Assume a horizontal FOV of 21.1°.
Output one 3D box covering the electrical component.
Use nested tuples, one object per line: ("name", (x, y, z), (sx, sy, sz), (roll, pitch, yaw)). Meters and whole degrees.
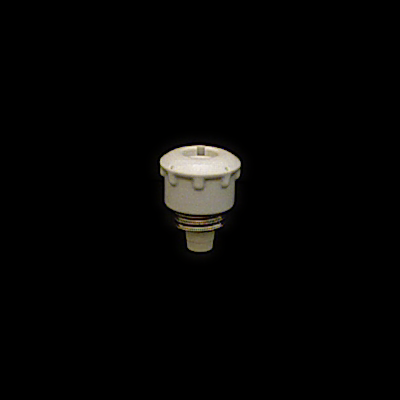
("electrical component", (0.000, 0.000, 0.646), (0.048, 0.062, 0.047), (1, 22, 0))
